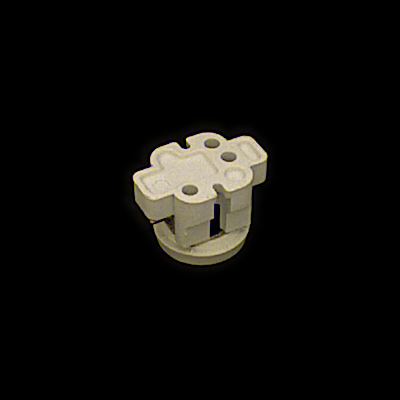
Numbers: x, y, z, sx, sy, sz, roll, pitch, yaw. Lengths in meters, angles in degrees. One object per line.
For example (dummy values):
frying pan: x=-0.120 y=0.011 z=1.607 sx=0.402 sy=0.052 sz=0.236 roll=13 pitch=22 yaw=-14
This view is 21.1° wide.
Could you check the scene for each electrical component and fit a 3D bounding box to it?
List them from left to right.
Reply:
electrical component: x=0.000 y=0.000 z=0.637 sx=0.079 sy=0.057 sz=0.057 roll=-21 pitch=48 yaw=-20
